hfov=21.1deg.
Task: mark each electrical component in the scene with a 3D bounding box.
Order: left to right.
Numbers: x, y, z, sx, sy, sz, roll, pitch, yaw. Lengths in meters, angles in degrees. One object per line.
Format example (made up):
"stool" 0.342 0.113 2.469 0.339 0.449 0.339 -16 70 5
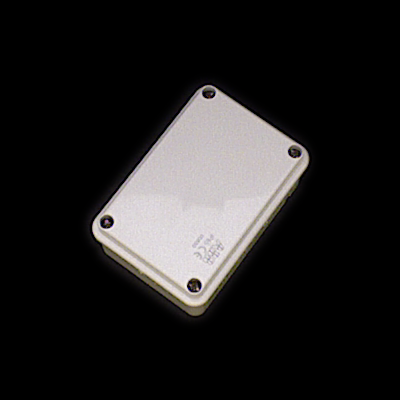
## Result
"electrical component" 0.000 0.000 0.626 0.078 0.113 0.057 35 -14 10
